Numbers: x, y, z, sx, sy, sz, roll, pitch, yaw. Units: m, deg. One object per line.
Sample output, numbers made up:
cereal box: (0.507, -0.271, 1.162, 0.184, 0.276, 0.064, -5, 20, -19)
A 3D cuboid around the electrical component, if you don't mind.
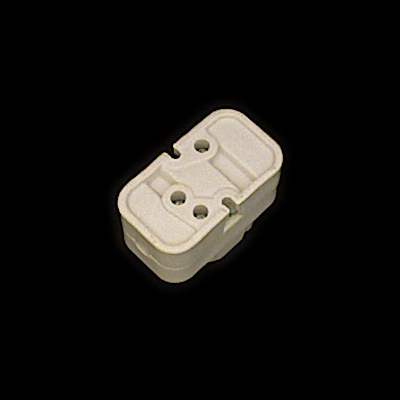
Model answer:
electrical component: (0.000, 0.000, 0.635, 0.095, 0.053, 0.059, -41, -20, -19)
